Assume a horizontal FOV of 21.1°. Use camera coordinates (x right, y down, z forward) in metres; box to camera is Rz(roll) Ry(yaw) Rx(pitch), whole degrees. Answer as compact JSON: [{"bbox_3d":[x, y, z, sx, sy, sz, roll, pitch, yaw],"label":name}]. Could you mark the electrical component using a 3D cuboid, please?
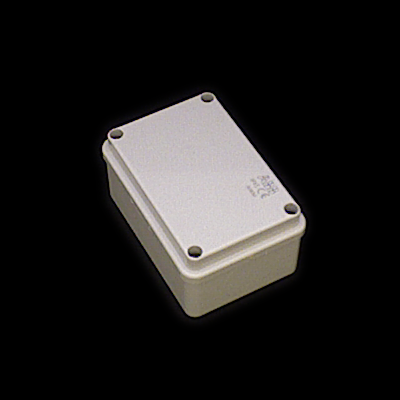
[{"bbox_3d":[0.000,0.000,0.629,0.078,0.112,0.057,-24,-34,-17],"label":"electrical component"}]
